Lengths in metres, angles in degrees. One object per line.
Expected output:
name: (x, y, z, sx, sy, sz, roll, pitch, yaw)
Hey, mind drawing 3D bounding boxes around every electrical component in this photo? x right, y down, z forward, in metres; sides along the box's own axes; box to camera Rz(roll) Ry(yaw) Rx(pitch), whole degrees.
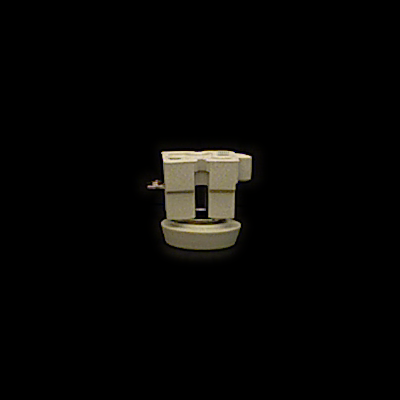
electrical component: (0.000, 0.000, 0.652, 0.066, 0.056, 0.048, -1, 13, -4)
